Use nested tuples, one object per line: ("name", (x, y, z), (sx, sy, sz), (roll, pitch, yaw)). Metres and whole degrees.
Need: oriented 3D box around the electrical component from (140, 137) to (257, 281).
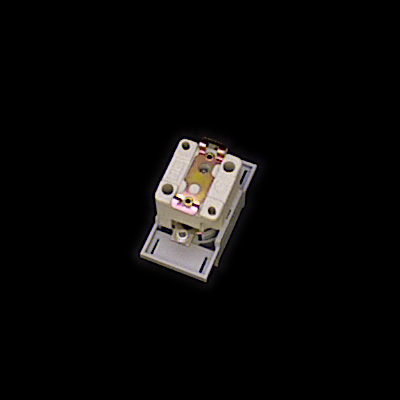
("electrical component", (0.000, 0.000, 0.625), (0.042, 0.081, 0.063), (20, -26, 9))
